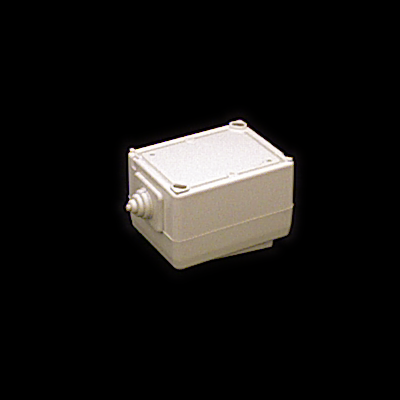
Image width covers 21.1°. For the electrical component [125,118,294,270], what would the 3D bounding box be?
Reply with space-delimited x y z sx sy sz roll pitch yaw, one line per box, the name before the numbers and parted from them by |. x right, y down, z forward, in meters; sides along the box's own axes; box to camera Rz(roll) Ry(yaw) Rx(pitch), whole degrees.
electrical component | 0.000 0.000 0.636 0.096 0.061 0.061 -17 36 -25
